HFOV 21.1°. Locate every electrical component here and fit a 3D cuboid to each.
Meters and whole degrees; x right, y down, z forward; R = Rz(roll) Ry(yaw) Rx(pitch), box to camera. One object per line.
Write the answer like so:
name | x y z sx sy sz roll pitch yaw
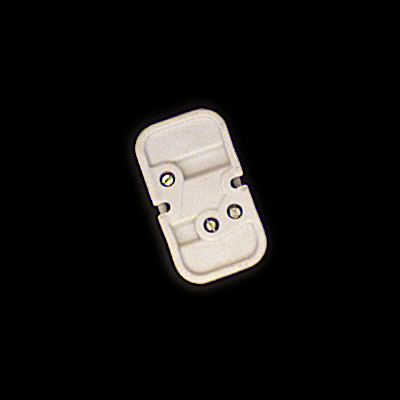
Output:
electrical component | 0.000 0.000 0.637 0.054 0.095 0.059 -20 -6 -1
